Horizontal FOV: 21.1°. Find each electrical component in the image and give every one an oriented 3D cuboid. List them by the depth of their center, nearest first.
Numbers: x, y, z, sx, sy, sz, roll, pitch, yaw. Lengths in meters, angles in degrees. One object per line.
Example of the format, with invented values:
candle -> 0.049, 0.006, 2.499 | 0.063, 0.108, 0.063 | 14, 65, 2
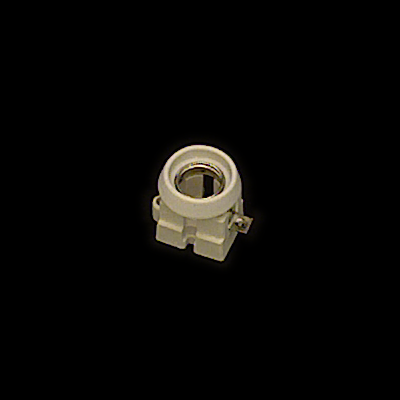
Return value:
electrical component -> 0.000, 0.000, 0.638 | 0.066, 0.048, 0.056 | 17, -33, 12
